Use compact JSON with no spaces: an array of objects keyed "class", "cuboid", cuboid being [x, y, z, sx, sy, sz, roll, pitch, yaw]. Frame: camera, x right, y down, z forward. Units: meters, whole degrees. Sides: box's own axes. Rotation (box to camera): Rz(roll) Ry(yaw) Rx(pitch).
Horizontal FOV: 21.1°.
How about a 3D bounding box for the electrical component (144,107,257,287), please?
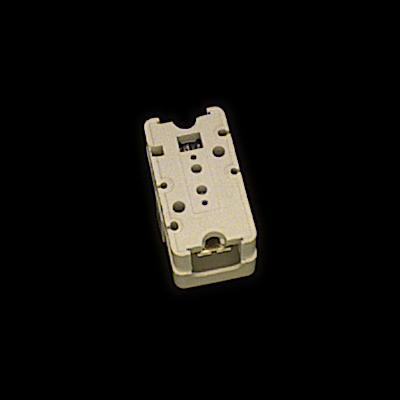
[{"class":"electrical component","cuboid":[0.000,0.000,0.636,0.050,0.089,0.055,-12,-26,-5]}]
